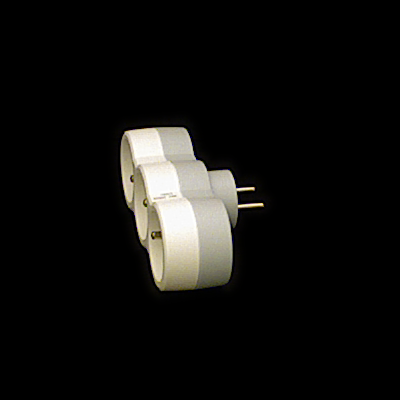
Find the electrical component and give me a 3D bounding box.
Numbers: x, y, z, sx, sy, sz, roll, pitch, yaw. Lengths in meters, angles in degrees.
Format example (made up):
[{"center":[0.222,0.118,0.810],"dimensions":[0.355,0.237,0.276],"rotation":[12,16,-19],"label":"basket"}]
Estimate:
[{"center":[0.000,0.000,0.643],"dimensions":[0.074,0.053,0.136],"rotation":[-6,33,-13],"label":"electrical component"}]
